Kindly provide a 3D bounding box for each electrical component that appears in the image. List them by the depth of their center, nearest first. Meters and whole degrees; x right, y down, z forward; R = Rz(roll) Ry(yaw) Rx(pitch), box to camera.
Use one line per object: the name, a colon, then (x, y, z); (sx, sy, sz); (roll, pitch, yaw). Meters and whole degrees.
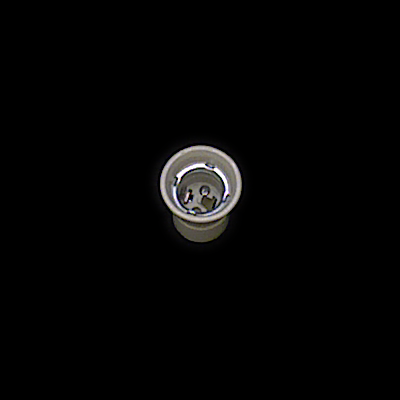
electrical component: (0.000, 0.000, 0.625); (0.044, 0.044, 0.065); (0, -18, 0)
